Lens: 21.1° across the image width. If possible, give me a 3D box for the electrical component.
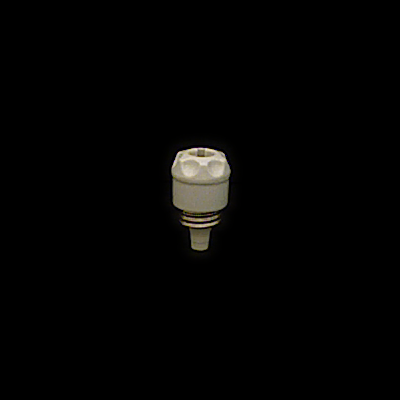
[{"bbox_3d":[0.000,0.000,0.648,0.035,0.062,0.034,1,22,0],"label":"electrical component"}]
